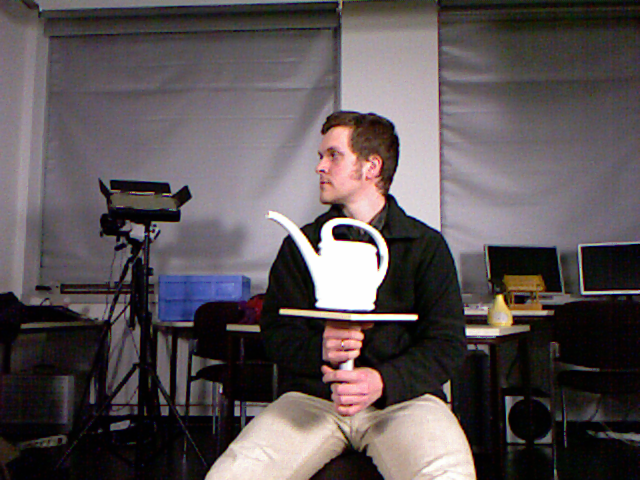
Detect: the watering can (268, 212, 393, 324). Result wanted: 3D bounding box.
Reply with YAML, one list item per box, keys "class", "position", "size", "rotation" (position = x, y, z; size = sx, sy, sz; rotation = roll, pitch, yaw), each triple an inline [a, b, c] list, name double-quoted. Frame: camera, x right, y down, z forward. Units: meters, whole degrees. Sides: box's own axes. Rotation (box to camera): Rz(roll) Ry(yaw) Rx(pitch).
- class: "watering can"
  position: [0.025, 0.059, 1.048]
  size: [0.347, 0.225, 0.104]
  rotation: [9, -6, -41]
